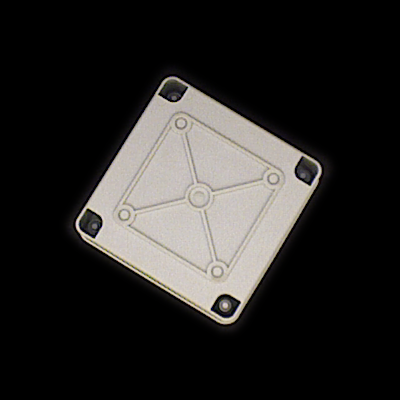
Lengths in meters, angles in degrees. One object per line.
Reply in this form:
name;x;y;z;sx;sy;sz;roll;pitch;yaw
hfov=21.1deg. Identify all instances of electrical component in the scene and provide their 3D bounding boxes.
electrical component;0.000;0.000;0.628;0.109;0.109;0.056;31;-5;3
